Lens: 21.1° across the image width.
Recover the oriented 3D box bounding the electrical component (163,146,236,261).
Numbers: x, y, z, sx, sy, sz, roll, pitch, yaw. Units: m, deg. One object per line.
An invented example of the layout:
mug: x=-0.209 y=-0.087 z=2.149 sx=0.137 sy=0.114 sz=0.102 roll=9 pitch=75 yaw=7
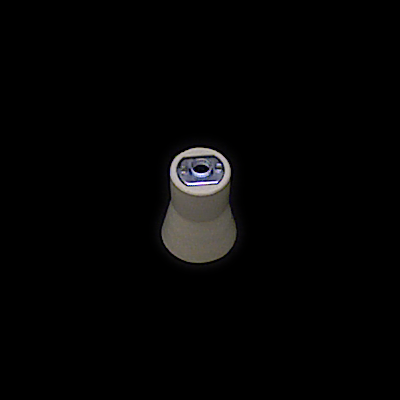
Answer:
electrical component: x=0.000 y=0.000 z=0.625 sx=0.044 sy=0.044 sz=0.065 roll=0 pitch=-37 yaw=-1
